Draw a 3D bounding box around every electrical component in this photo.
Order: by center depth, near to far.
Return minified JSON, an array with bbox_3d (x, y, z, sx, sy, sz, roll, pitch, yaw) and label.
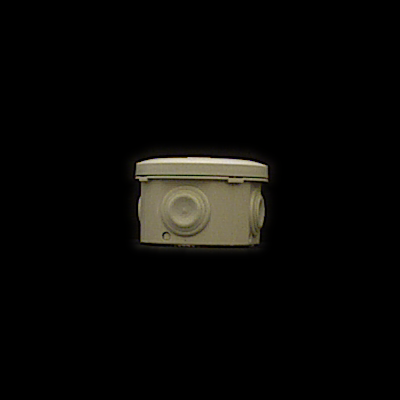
[{"bbox_3d":[0.000,0.000,0.649,0.080,0.051,0.080,1,0,0],"label":"electrical component"}]
